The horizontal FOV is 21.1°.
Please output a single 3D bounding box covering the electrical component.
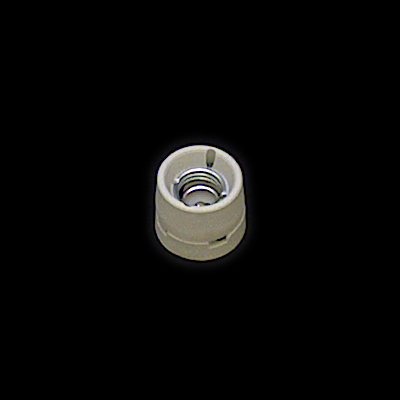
[{"bbox_3d":[0.000,0.000,0.633,0.055,0.055,0.047,0,-37,0],"label":"electrical component"}]
